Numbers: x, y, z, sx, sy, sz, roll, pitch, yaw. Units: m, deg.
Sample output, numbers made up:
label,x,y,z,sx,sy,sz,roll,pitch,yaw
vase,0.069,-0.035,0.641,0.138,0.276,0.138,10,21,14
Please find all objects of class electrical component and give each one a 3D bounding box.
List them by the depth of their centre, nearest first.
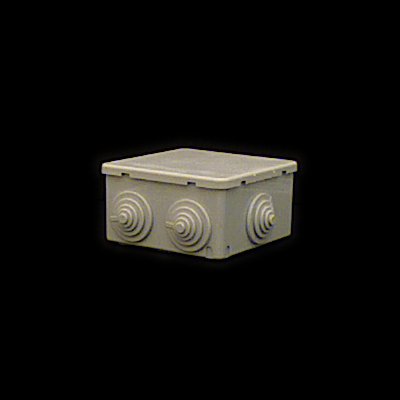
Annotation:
label,x,y,z,sx,sy,sz,roll,pitch,yaw
electrical component,0.000,0.000,0.651,0.098,0.049,0.100,9,13,33
